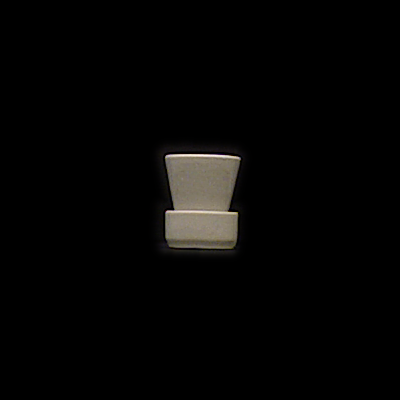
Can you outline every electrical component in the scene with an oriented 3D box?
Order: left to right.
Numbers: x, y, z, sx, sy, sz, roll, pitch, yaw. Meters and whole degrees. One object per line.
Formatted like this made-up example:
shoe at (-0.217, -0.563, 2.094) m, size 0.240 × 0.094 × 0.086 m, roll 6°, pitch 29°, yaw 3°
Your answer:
electrical component at (0.000, 0.000, 0.651) m, size 0.045 × 0.055 × 0.045 m, roll 2°, pitch 1°, yaw 0°
